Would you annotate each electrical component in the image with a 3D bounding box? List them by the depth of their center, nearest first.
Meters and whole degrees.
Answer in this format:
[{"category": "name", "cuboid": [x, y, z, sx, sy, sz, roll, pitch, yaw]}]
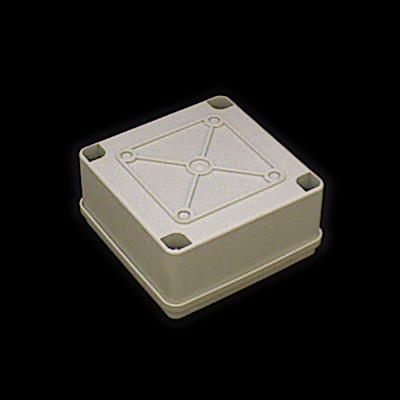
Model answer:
[{"category": "electrical component", "cuboid": [0.000, 0.000, 0.629, 0.109, 0.056, 0.108, -24, 48, -25]}]
